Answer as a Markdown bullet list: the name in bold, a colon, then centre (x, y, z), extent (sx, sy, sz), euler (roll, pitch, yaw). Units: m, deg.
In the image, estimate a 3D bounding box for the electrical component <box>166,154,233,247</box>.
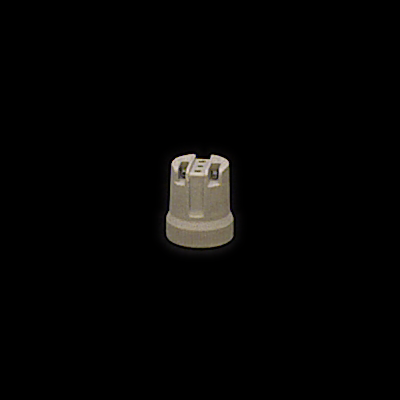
- **electrical component**: centre (0.000, 0.000, 0.641), extent (0.040, 0.046, 0.040), euler (1, 21, 0)
